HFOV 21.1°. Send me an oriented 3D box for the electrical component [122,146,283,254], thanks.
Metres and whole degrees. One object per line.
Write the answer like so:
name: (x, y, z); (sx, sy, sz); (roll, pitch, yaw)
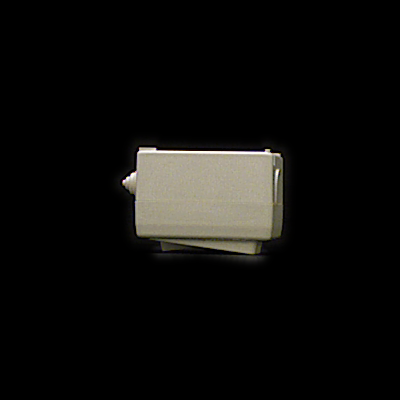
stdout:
electrical component: (0.000, 0.000, 0.649); (0.096, 0.061, 0.062); (2, 1, 10)
